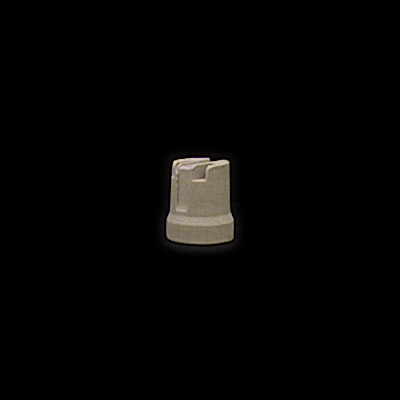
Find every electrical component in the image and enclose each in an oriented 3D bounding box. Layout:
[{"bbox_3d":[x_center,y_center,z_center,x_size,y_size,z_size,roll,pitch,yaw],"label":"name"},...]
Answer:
[{"bbox_3d":[0.000,0.000,0.645,0.040,0.046,0.040,1,11,0],"label":"electrical component"}]
